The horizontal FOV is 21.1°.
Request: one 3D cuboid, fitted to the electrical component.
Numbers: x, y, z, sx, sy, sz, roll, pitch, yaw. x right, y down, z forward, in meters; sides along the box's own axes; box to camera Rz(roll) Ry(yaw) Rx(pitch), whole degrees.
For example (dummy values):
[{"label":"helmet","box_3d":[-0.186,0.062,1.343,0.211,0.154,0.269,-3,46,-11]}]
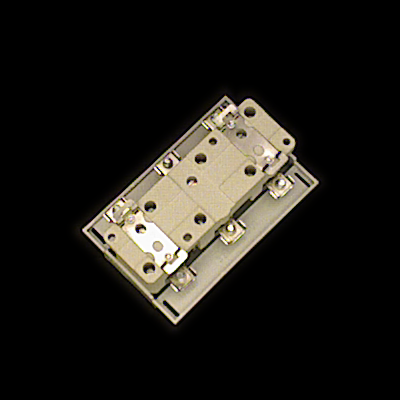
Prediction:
[{"label":"electrical component","box_3d":[0.000,0.000,0.633,0.078,0.122,0.062,44,-11,11]}]
